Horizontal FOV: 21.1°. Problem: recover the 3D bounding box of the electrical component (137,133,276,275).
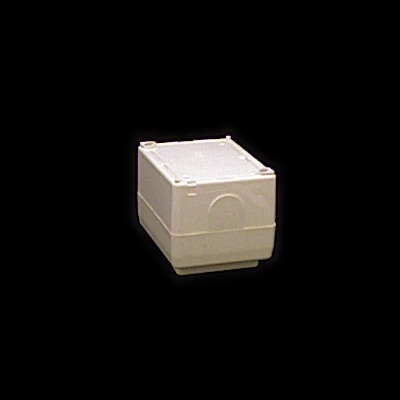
[{"bbox_3d":[0.000,0.000,0.641,0.062,0.061,0.095,-6,21,-17],"label":"electrical component"}]
